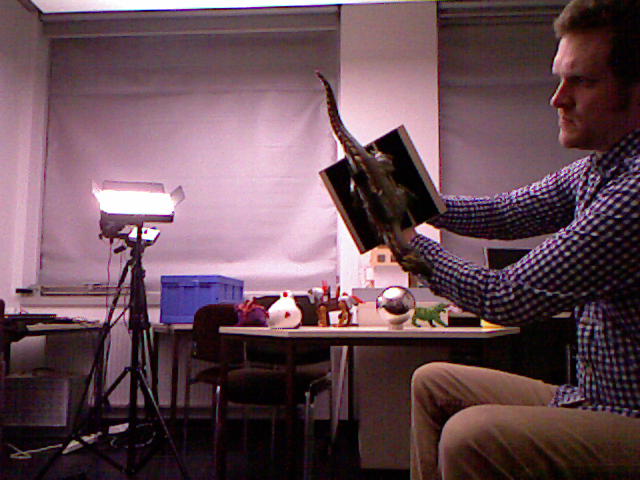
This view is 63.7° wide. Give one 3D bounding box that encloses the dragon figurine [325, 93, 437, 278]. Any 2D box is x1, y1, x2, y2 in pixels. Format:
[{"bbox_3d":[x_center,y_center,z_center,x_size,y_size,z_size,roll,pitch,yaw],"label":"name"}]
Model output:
[{"bbox_3d":[0.097,-0.104,0.971,0.122,0.411,0.245,-31,4,9],"label":"dragon figurine"}]
